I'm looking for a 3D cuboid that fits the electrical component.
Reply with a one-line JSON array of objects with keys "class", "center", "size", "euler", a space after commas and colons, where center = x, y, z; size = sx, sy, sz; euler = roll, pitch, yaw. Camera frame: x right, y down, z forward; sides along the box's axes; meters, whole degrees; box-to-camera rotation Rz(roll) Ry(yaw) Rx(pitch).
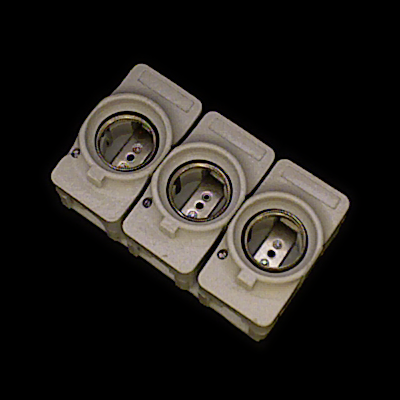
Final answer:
[{"class": "electrical component", "center": [0.000, 0.000, 0.631], "size": [0.150, 0.089, 0.062], "euler": [34, -13, 10]}]
